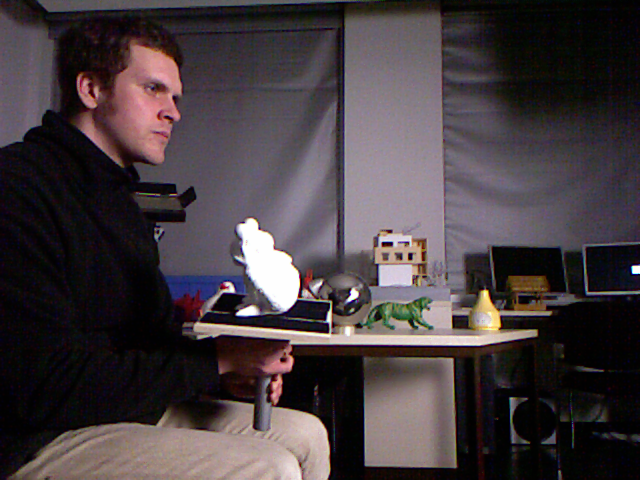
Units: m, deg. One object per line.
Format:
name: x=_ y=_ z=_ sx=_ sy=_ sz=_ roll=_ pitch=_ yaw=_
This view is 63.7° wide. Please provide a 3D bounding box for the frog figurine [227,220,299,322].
frog figurine: x=-0.091 y=0.046 z=0.844 sx=0.123 sy=0.158 sz=0.139 roll=11 pitch=13 yaw=21
